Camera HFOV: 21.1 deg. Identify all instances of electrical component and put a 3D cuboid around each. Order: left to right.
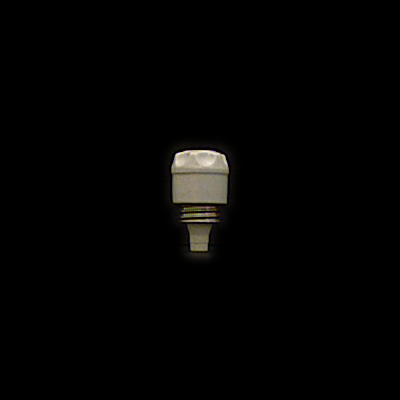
[{"bbox_3d":[0.000,0.000,0.657,0.035,0.061,0.035,1,1,1],"label":"electrical component"}]
